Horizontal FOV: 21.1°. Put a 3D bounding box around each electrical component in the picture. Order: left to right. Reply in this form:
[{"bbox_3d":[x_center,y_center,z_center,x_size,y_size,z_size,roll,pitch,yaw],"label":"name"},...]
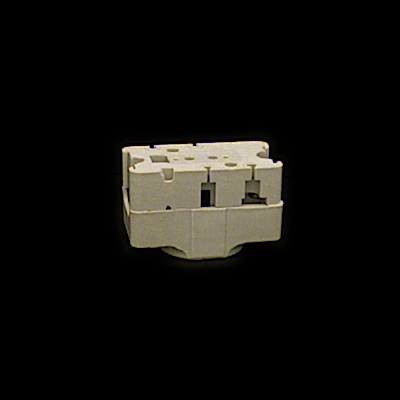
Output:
[{"bbox_3d":[0.000,0.000,0.646,0.090,0.056,0.049,-3,23,-10],"label":"electrical component"}]
